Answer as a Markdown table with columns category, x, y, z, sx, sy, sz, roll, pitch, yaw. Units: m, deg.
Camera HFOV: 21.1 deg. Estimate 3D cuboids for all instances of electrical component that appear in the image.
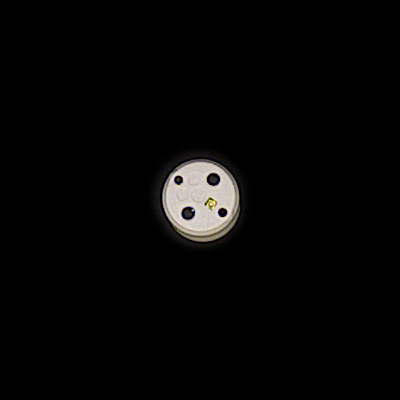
| category | x | y | z | sx | sy | sz | roll | pitch | yaw |
| --- | --- | --- | --- | --- | --- | --- | --- | --- | --- |
| electrical component | 0.000 | 0.000 | 0.629 | 0.045 | 0.045 | 0.055 | 0 | -6 | 1 |
